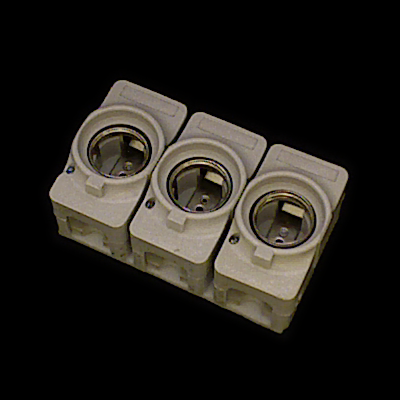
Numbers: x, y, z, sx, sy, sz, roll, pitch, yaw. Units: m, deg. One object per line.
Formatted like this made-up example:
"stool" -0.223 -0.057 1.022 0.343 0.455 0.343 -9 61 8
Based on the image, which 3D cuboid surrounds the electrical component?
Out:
"electrical component" 0.000 0.000 0.631 0.150 0.089 0.062 23 -24 12
